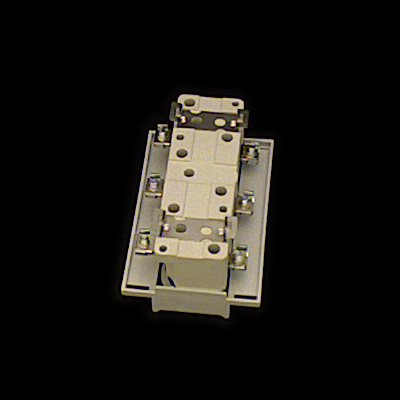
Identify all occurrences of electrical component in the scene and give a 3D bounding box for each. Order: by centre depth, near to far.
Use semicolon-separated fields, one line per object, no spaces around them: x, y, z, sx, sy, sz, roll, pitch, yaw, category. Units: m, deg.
0.000;0.000;0.635;0.079;0.121;0.063;5;-37;3;electrical component
